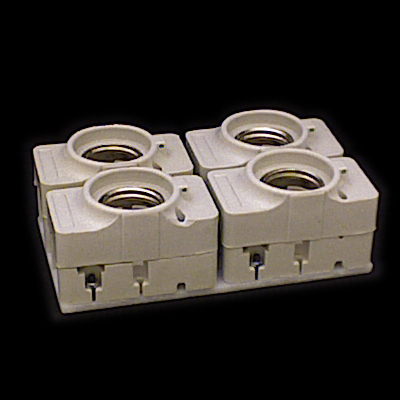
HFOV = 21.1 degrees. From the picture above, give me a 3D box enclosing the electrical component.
[{"bbox_3d":[0.000,0.000,0.635,0.186,0.061,0.104,-6,32,-13],"label":"electrical component"}]
